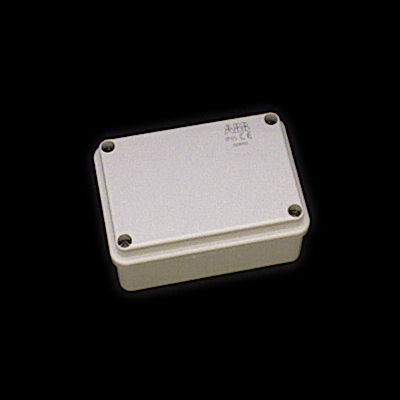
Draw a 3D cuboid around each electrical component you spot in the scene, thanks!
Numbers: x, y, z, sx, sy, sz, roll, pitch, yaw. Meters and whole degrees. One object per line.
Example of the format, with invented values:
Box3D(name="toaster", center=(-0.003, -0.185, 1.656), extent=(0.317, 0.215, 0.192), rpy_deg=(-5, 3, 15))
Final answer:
Box3D(name="electrical component", center=(0.000, 0.000, 0.628), extent=(0.113, 0.078, 0.057), rpy_deg=(-10, -27, -5))
